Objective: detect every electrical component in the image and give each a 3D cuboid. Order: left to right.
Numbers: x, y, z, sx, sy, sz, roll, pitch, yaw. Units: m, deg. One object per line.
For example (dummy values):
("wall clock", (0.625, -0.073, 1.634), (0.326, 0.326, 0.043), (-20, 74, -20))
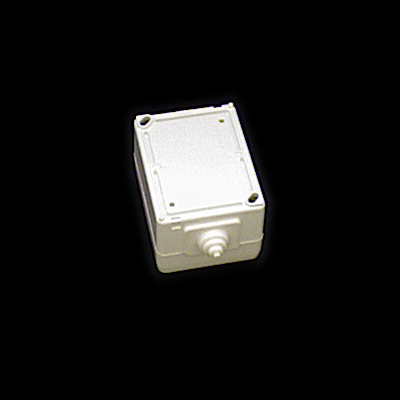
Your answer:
("electrical component", (-0.001, 0.000, 0.623), (0.062, 0.096, 0.061), (-9, -38, -8))
